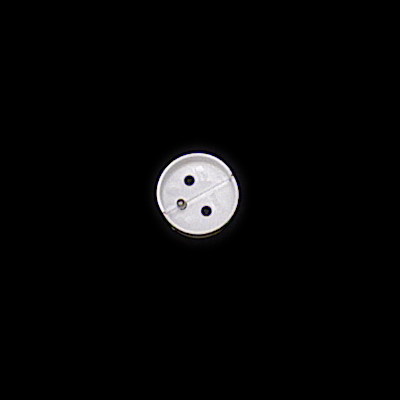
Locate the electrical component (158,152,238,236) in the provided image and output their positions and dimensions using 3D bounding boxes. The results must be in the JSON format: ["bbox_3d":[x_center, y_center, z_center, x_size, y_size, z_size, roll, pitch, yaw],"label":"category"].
[{"bbox_3d":[0.000,0.000,0.615,0.043,0.043,0.080,0,-6,1],"label":"electrical component"}]
